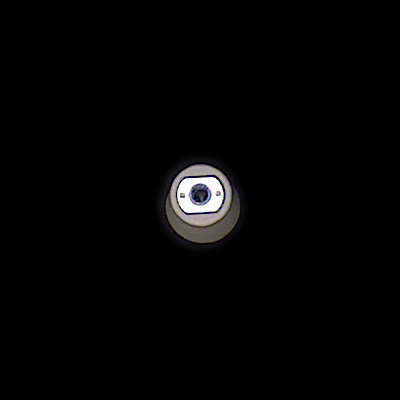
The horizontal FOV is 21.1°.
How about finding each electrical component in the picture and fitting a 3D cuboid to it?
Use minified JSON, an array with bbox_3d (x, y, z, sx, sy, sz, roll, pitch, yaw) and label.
[{"bbox_3d":[0.000,0.000,0.626,0.044,0.044,0.065,0,-7,1],"label":"electrical component"}]
